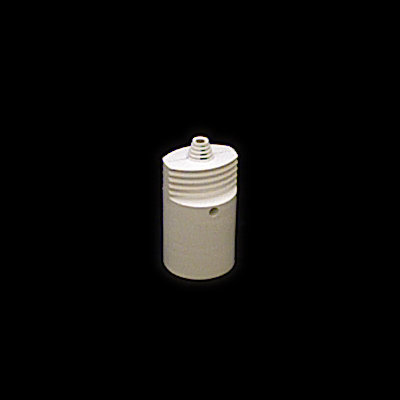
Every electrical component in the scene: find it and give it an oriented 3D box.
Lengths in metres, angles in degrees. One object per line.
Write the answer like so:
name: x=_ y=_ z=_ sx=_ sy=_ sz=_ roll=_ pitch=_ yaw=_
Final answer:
electrical component: x=0.000 y=0.000 z=0.628 sx=0.043 sy=0.082 sz=0.042 roll=1 pitch=31 yaw=0
